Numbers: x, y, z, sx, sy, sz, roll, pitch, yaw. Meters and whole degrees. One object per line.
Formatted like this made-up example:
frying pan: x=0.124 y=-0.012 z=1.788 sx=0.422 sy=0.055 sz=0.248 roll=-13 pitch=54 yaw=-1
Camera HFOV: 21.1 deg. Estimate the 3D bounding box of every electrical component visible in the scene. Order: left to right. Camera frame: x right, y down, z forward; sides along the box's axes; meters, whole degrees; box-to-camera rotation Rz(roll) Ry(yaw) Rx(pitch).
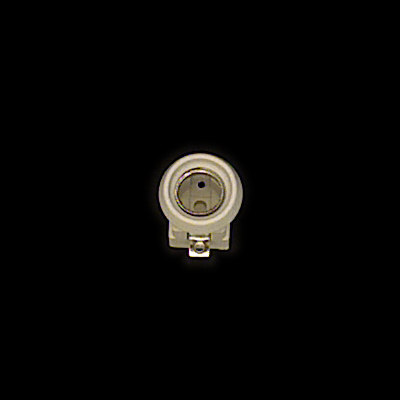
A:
electrical component: x=0.000 y=0.000 z=0.637 sx=0.048 sy=0.067 sz=0.055 roll=0 pitch=-16 yaw=2
